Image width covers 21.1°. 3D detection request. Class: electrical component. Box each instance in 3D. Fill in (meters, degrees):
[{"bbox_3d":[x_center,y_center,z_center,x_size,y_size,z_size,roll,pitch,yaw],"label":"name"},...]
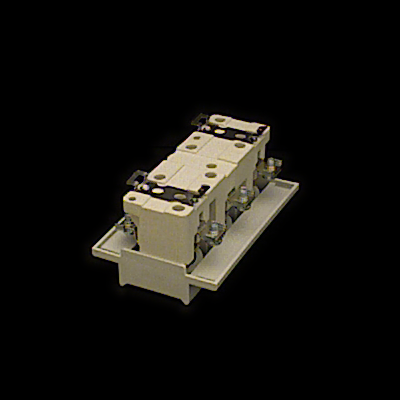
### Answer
[{"bbox_3d":[0.000,0.000,0.641,0.078,0.064,0.121,14,34,22],"label":"electrical component"}]
